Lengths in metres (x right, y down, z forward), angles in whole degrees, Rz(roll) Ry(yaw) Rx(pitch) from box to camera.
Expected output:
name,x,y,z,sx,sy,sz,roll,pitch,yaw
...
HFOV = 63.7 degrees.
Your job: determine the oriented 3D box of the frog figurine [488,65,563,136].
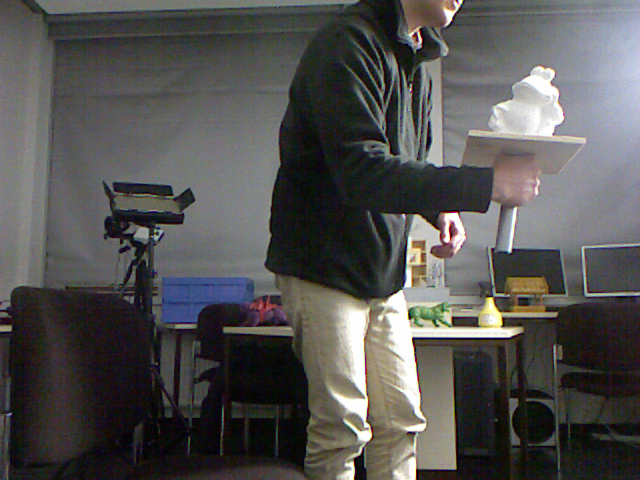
name,x,y,z,sx,sy,sz,roll,pitch,yaw
frog figurine,0.419,-0.268,1.047,0.138,0.160,0.123,8,0,28
